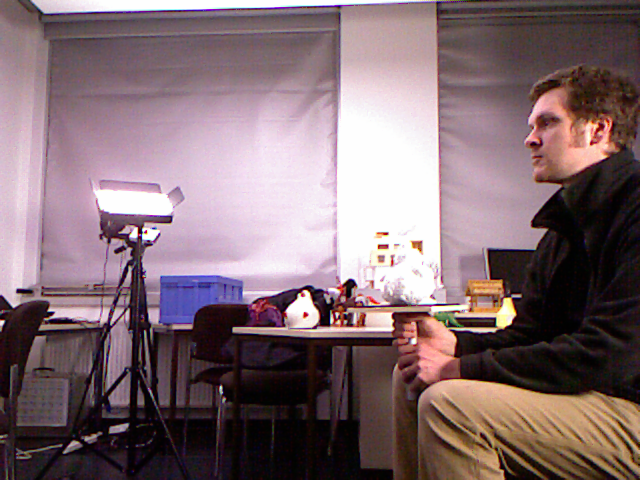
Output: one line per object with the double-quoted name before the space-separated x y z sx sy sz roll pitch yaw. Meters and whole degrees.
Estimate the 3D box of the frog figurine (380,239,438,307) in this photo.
"frog figurine" 0.201 0.075 1.185 0.123 0.160 0.137 3 -7 -34
